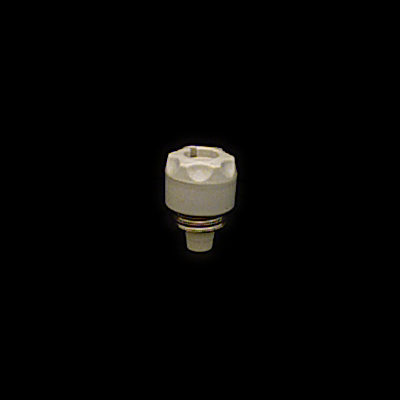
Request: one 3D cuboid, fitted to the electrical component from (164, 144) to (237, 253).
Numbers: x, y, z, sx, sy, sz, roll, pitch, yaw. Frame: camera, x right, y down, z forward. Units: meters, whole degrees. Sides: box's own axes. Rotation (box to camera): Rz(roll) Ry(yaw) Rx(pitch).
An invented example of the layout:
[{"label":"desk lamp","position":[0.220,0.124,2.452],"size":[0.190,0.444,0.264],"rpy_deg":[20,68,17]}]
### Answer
[{"label":"electrical component","position":[0.000,0.000,0.645],"size":[0.043,0.063,0.043],"rpy_deg":[2,23,0]}]
